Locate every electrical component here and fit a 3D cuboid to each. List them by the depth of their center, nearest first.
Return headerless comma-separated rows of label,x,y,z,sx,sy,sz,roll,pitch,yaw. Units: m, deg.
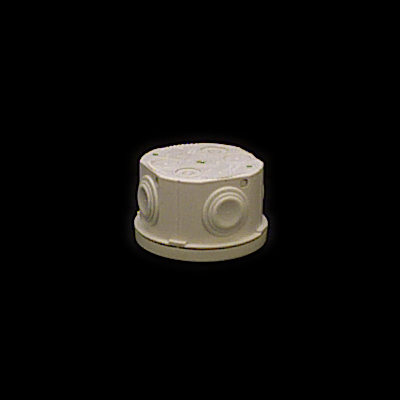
electrical component,0.000,0.000,0.641,0.080,0.051,0.079,0,21,0
